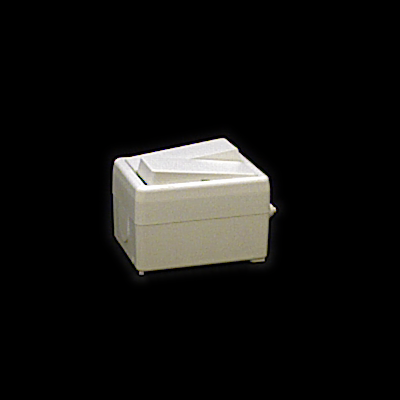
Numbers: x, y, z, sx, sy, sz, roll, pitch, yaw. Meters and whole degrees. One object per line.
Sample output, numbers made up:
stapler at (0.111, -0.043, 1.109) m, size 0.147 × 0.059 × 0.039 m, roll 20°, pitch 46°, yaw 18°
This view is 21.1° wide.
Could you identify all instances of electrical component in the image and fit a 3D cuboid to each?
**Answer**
electrical component at (0.000, 0.000, 0.640) m, size 0.096 × 0.061 × 0.061 m, roll -6°, pitch 22°, yaw -17°
